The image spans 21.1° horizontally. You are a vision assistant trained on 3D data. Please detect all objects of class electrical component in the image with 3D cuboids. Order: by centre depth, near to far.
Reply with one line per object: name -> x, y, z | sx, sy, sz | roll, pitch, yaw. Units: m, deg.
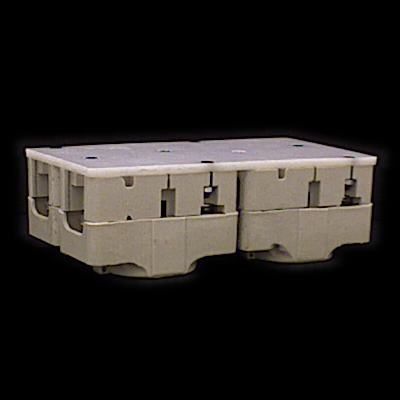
electrical component -> 0.000, 0.000, 0.644 | 0.186, 0.061, 0.104 | -4, 11, -28
